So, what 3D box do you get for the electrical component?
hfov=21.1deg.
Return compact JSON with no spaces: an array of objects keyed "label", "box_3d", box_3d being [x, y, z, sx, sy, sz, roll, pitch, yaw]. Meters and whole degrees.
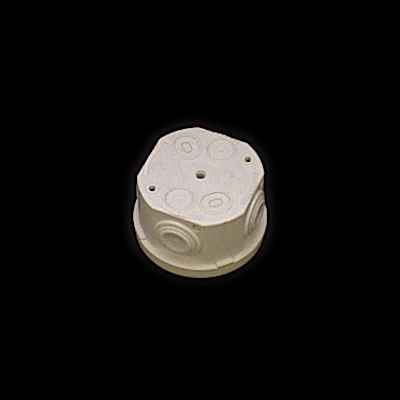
[{"label":"electrical component","box_3d":[0.000,0.000,0.633,0.080,0.080,0.051,0,-38,-1]}]
